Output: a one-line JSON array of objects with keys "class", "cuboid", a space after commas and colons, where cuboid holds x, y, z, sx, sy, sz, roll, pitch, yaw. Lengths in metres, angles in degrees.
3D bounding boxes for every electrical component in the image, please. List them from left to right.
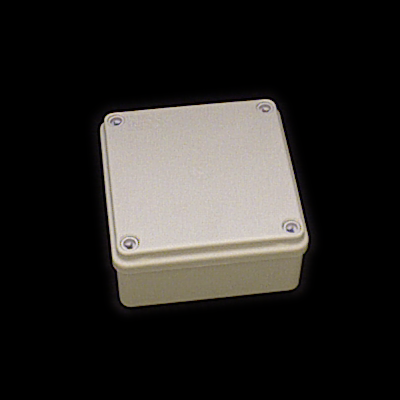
[{"class": "electrical component", "cuboid": [0.000, 0.000, 0.629, 0.109, 0.108, 0.056, -6, -37, -5]}]
